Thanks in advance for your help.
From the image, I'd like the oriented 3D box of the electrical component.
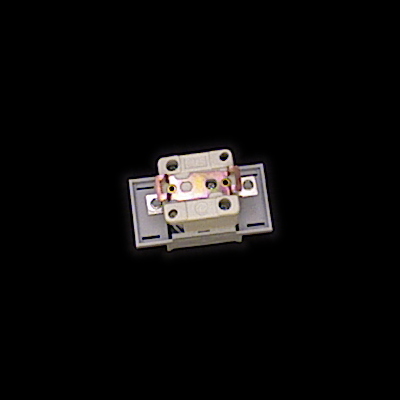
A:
[{"bbox_3d":[0.000,0.000,0.625,0.081,0.042,0.063,-7,-16,-3],"label":"electrical component"}]
